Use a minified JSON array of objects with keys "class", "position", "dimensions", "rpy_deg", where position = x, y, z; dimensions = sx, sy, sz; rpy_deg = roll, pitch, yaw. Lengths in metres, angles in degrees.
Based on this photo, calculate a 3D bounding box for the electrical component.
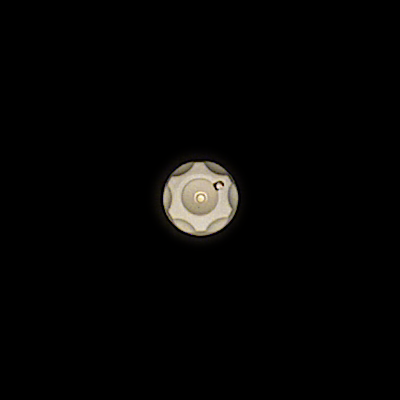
[{"class":"electrical component","position":[0.000,0.000,0.635],"dimensions":[0.043,0.043,0.062],"rpy_deg":[0,-5,2]}]
